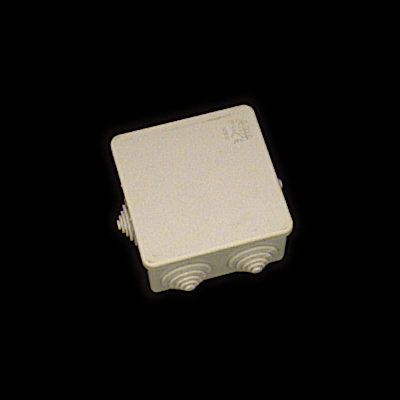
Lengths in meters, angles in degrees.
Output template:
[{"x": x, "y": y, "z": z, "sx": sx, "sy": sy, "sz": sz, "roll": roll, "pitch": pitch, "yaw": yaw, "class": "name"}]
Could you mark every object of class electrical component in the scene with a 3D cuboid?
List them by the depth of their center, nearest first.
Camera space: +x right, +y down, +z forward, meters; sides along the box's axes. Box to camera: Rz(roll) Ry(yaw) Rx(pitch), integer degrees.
[{"x": 0.000, "y": 0.000, "z": 0.641, "sx": 0.100, "sy": 0.099, "sz": 0.048, "roll": -14, "pitch": -26, "yaw": -7, "class": "electrical component"}]
